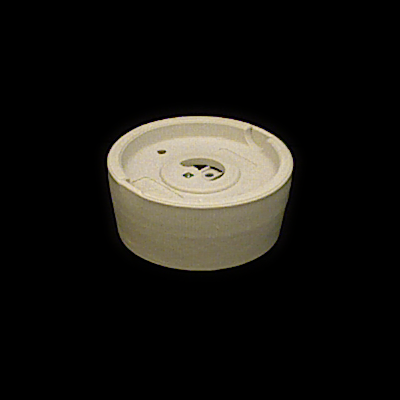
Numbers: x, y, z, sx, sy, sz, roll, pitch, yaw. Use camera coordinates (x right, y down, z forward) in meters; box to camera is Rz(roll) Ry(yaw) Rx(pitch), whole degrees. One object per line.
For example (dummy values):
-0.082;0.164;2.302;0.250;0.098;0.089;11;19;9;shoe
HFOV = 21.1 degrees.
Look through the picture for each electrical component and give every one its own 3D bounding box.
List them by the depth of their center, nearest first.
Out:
0.000;0.000;0.638;0.108;0.061;0.106;1;32;0;electrical component
